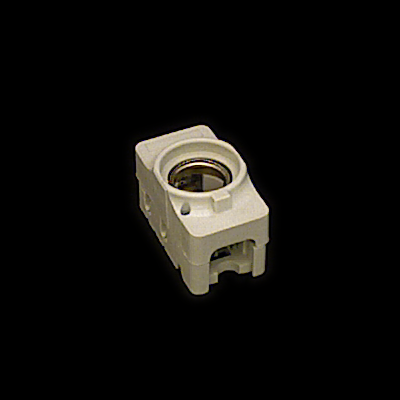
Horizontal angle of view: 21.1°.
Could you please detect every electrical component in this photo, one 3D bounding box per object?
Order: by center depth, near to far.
[{"bbox_3d":[0.000,0.000,0.639,0.050,0.056,0.088,-17,45,-18],"label":"electrical component"}]
